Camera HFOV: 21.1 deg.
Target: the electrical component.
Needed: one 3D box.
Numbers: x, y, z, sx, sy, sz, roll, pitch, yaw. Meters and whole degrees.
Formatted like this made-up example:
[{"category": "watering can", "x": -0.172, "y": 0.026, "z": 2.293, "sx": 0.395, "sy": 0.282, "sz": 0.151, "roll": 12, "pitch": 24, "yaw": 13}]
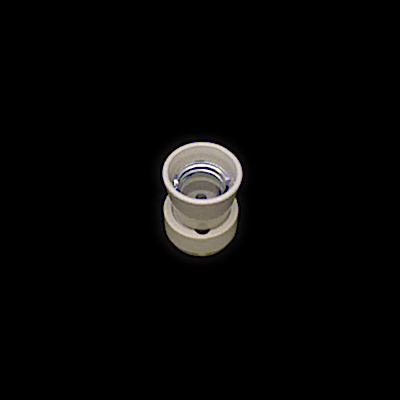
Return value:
[{"category": "electrical component", "x": 0.000, "y": 0.000, "z": 0.631, "sx": 0.045, "sy": 0.044, "sz": 0.055, "roll": 0, "pitch": -38, "yaw": -1}]
